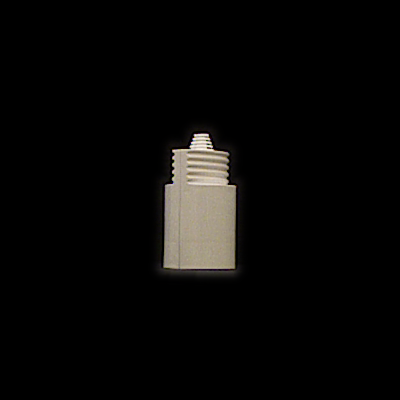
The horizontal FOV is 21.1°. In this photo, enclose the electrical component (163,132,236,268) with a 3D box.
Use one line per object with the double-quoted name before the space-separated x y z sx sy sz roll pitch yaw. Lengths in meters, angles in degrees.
"electrical component" 0.000 0.000 0.650 0.043 0.081 0.043 1 1 0
